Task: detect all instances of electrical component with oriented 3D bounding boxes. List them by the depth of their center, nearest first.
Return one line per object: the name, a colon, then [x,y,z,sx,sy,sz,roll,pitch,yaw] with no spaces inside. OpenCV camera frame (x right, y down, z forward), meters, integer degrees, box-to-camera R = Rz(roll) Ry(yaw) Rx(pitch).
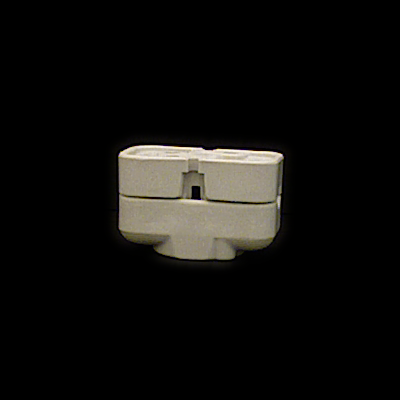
electrical component: [0.000,0.000,0.649,0.095,0.060,0.053,4,12,9]
